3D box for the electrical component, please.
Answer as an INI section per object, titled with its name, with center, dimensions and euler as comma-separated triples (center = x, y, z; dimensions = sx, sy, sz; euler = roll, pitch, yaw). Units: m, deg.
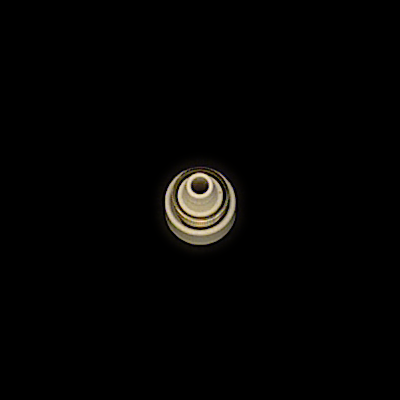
[electrical component]
center = 0.000, 0.000, 0.634
dimensions = 0.043, 0.043, 0.061
euler = 0, -17, 0
